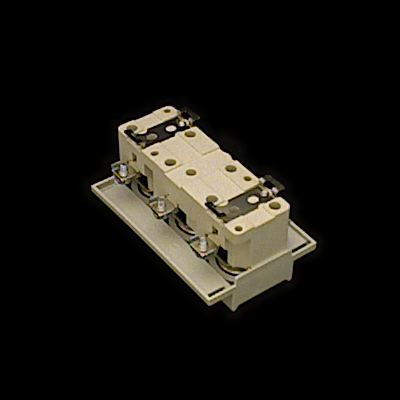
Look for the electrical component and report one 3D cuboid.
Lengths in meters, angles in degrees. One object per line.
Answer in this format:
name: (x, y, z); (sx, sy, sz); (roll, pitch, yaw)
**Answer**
electrical component: (0.000, 0.000, 0.640); (0.079, 0.063, 0.120); (-26, 49, -27)
